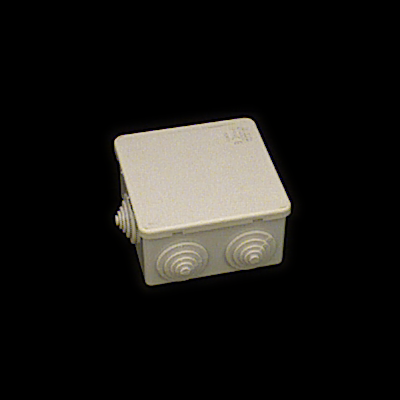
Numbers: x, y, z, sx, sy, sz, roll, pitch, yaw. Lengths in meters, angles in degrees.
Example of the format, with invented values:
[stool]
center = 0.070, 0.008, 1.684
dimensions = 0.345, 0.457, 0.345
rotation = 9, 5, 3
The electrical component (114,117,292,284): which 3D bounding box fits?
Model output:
[electrical component]
center = 0.000, 0.000, 0.643
dimensions = 0.100, 0.049, 0.098
rotation = -9, 43, -11
